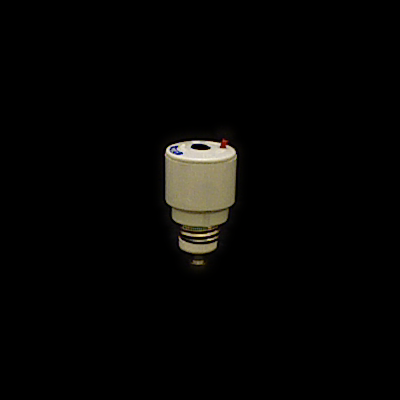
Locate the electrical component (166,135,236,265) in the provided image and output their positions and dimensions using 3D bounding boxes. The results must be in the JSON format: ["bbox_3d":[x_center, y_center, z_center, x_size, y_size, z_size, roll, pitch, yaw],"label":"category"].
[{"bbox_3d":[0.000,0.000,0.635,0.040,0.079,0.039,1,21,-1],"label":"electrical component"}]
